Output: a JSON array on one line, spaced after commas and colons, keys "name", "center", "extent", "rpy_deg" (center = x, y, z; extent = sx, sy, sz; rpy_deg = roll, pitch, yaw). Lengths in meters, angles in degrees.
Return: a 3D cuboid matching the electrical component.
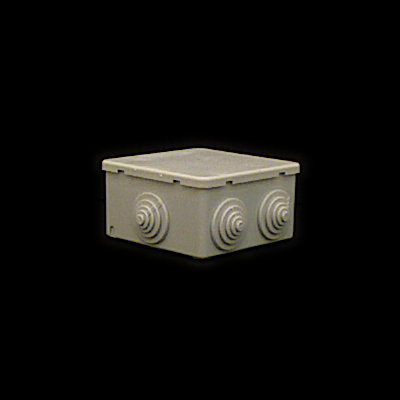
[{"name": "electrical component", "center": [0.000, 0.000, 0.654], "extent": [0.098, 0.049, 0.100], "rpy_deg": [12, 15, 42]}]
